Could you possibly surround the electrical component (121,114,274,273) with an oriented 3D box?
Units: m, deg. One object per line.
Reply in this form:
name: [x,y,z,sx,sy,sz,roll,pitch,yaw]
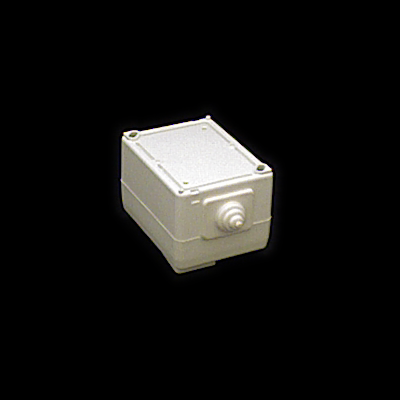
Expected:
electrical component: [0.000,0.000,0.629,0.061,0.061,0.095,-14,34,-24]
